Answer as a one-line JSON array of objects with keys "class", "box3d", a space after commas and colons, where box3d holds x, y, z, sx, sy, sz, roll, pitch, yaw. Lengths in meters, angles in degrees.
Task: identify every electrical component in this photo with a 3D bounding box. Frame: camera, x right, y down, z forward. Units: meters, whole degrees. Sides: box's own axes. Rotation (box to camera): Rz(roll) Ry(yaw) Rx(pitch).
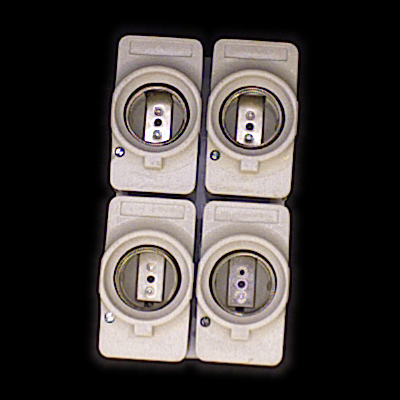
[{"class": "electrical component", "box3d": [0.000, 0.000, 0.626, 0.105, 0.187, 0.060, 3, -7, 0]}]
